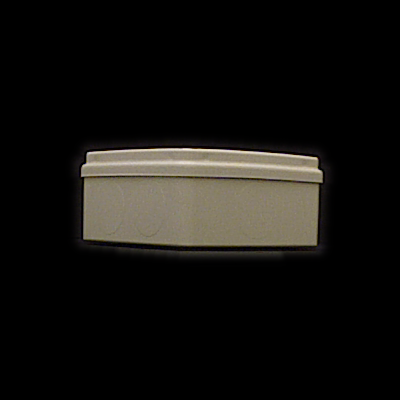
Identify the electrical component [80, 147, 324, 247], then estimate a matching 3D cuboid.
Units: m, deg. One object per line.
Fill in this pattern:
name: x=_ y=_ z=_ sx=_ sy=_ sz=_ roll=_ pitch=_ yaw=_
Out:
electrical component: x=0.000 y=0.000 z=0.649 sx=0.109 sy=0.056 sz=0.108 roll=1 pitch=1 yaw=-39
